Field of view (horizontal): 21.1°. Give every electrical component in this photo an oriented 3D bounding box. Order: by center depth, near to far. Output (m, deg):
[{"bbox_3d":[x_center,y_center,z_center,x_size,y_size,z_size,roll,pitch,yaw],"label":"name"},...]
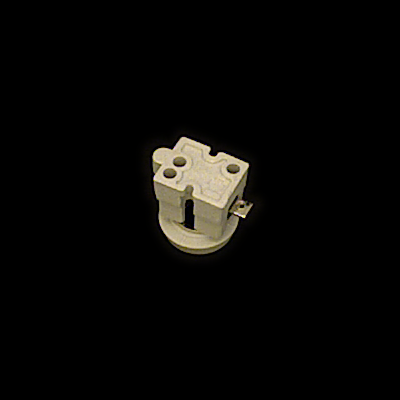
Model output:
[{"bbox_3d":[0.000,0.000,0.638,0.066,0.048,0.055,23,-35,15],"label":"electrical component"}]
